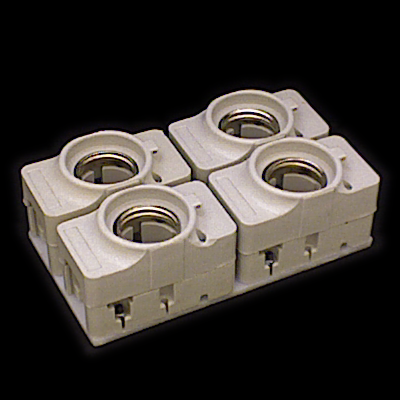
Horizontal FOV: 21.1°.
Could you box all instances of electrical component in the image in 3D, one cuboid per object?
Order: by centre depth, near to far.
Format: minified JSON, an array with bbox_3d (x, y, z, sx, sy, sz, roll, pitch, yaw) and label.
[{"bbox_3d":[0.000,0.000,0.631,0.186,0.061,0.104,-18,45,-20],"label":"electrical component"}]
